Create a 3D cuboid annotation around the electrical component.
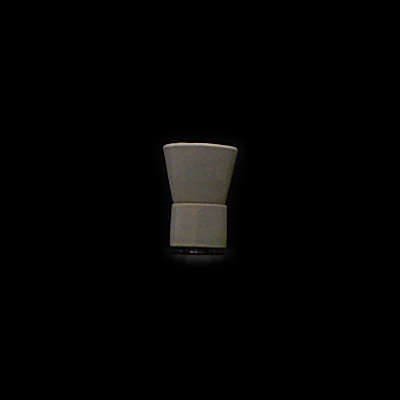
[{"bbox_3d":[0.000,0.000,0.652,0.044,0.065,0.044,1,0,0],"label":"electrical component"}]
